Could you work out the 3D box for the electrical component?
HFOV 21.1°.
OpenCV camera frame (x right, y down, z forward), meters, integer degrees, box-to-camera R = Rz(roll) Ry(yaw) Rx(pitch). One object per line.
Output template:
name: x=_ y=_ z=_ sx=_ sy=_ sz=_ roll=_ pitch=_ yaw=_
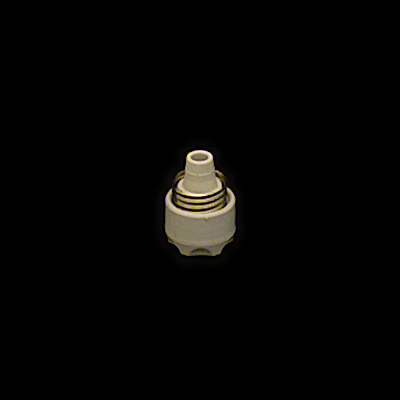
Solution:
electrical component: x=0.000 y=0.000 z=0.640 sx=0.043 sy=0.063 sz=0.043 roll=0 pitch=33 yaw=1
